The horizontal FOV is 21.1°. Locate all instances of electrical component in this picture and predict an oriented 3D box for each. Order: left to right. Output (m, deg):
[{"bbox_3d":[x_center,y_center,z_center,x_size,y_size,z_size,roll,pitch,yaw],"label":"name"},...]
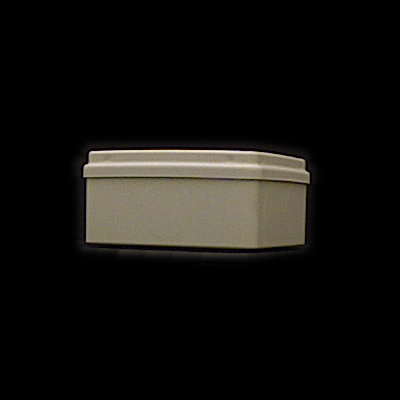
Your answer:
[{"bbox_3d":[0.000,0.000,0.648,0.108,0.056,0.109,1,1,21],"label":"electrical component"}]
